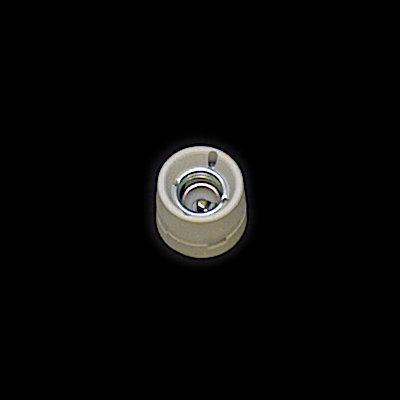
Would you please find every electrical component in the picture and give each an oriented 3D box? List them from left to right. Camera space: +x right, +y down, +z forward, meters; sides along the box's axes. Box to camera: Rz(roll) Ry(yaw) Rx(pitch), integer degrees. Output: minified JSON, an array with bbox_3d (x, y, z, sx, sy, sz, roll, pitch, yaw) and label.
[{"bbox_3d":[0.000,0.000,0.632,0.055,0.056,0.047,0,-26,1],"label":"electrical component"}]
